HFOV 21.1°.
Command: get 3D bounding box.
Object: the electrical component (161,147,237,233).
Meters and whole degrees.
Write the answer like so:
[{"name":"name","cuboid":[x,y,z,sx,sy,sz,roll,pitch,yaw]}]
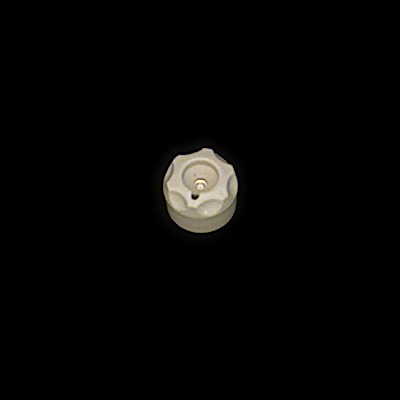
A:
[{"name":"electrical component","cuboid":[0.000,0.000,0.634,0.043,0.043,0.062,0,-27,1]}]
